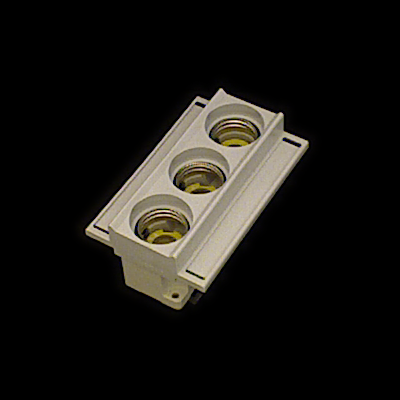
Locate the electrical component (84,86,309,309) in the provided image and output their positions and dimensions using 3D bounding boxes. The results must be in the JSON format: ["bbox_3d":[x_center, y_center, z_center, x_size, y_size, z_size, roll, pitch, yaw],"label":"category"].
[{"bbox_3d":[0.000,0.000,0.639,0.078,0.121,0.063,25,-33,20],"label":"electrical component"}]
